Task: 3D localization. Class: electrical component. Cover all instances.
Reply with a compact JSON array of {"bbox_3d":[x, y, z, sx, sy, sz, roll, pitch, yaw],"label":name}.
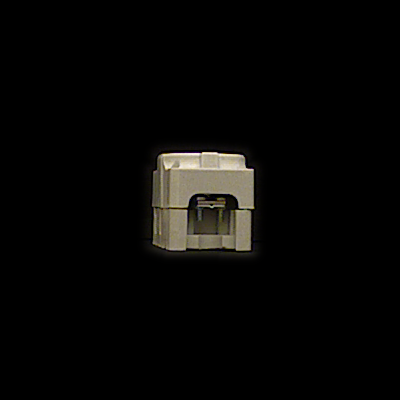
[{"bbox_3d":[0.000,0.000,0.656,0.050,0.056,0.089,1,1,-10],"label":"electrical component"}]
